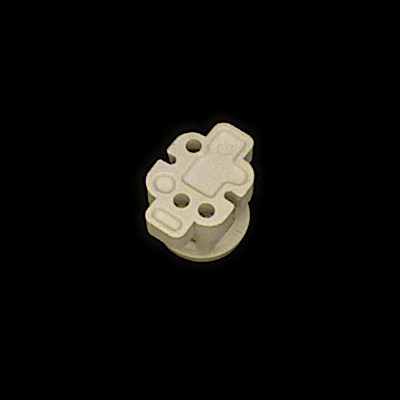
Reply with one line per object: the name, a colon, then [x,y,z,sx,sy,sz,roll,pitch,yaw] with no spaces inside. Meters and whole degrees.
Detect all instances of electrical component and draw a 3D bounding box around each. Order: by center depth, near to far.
electrical component: [0.000,0.000,0.636,0.057,0.079,0.057,31,-24,15]
